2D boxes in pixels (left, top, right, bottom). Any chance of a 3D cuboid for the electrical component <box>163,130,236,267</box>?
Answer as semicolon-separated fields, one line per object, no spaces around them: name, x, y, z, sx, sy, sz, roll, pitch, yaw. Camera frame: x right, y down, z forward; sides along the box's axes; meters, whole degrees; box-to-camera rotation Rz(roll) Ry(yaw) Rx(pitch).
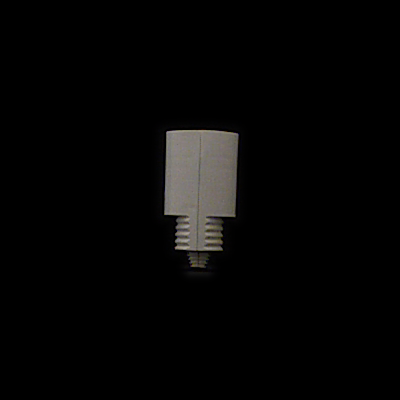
electrical component;0.000;0.000;0.648;0.043;0.081;0.043;1;2;0
